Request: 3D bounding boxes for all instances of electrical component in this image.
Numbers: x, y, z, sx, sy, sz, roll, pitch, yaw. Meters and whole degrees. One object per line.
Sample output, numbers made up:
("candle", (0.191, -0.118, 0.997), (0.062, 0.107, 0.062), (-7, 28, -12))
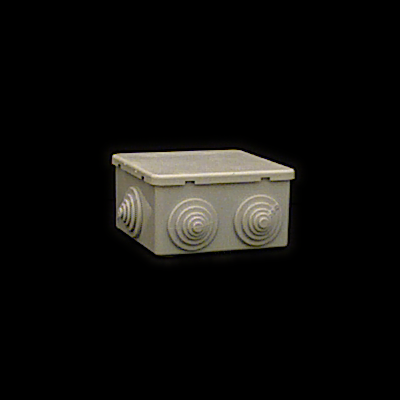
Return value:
("electrical component", (0.000, 0.000, 0.654), (0.100, 0.049, 0.098), (-3, 12, -21))
